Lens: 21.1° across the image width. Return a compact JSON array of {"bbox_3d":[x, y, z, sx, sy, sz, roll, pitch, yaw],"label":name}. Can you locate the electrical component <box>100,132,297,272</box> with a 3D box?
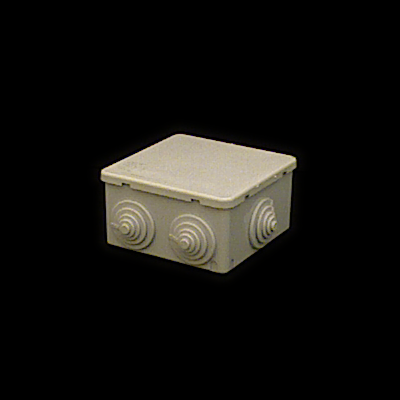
[{"bbox_3d":[0.000,0.000,0.647,0.098,0.049,0.100,13,25,28],"label":"electrical component"}]
